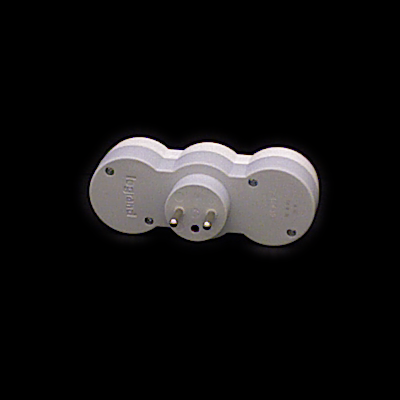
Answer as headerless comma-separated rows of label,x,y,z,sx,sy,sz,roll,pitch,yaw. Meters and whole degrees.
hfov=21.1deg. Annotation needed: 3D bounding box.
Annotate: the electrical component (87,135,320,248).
electrical component,0.000,0.000,0.641,0.138,0.053,0.073,5,23,8
